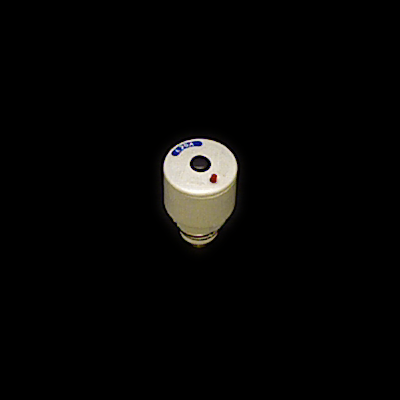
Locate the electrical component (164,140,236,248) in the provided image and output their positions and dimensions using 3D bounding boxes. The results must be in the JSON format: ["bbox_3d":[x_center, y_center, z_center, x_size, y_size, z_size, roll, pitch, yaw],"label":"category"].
[{"bbox_3d":[0.000,0.000,0.619,0.040,0.040,0.078,0,-37,-1],"label":"electrical component"}]
